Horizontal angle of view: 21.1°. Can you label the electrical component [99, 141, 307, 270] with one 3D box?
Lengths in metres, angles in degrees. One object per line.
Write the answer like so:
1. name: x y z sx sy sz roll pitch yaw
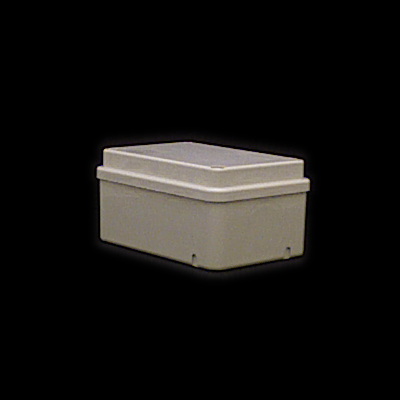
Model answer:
1. electrical component: 0.000 0.000 0.642 0.078 0.057 0.112 -8 14 -41
